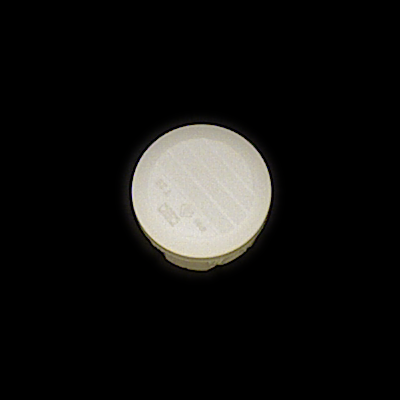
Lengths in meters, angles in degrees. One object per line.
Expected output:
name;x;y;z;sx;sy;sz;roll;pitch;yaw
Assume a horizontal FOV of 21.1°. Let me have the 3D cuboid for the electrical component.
electrical component;0.000;0.000;0.630;0.080;0.080;0.050;0;-17;0
